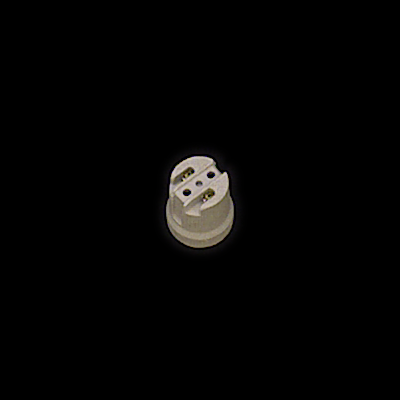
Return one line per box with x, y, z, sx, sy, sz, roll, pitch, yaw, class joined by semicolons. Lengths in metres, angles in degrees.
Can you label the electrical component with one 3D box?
0.000;0.000;0.633;0.040;0.040;0.046;0;-27;0;electrical component
